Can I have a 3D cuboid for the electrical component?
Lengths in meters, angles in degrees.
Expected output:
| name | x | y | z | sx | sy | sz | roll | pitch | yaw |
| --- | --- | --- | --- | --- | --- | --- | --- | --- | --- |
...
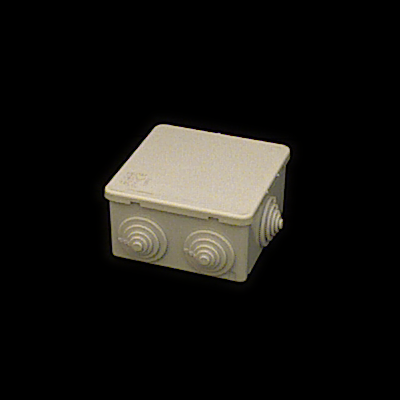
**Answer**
| name | x | y | z | sx | sy | sz | roll | pitch | yaw |
| --- | --- | --- | --- | --- | --- | --- | --- | --- | --- |
| electrical component | 0.000 | 0.000 | 0.643 | 0.099 | 0.049 | 0.099 | 11 | 34 | 16 |
